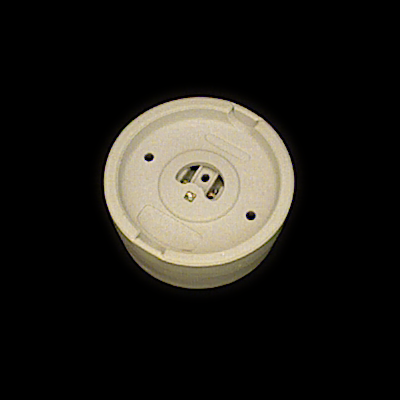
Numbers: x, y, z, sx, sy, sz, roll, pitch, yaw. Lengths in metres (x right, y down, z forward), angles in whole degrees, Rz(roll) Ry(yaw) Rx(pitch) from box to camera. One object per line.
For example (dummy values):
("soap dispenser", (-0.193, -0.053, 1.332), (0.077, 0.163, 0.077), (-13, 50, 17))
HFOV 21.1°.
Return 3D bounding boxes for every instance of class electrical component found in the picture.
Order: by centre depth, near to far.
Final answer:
("electrical component", (0.000, 0.000, 0.632), (0.108, 0.108, 0.060), (0, -27, -1))
